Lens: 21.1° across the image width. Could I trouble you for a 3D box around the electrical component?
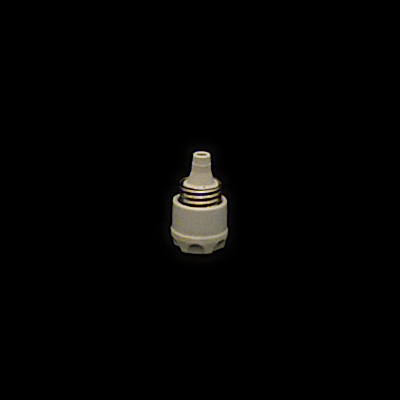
[{"bbox_3d":[0.000,0.000,0.653,0.035,0.062,0.034,2,23,0],"label":"electrical component"}]
